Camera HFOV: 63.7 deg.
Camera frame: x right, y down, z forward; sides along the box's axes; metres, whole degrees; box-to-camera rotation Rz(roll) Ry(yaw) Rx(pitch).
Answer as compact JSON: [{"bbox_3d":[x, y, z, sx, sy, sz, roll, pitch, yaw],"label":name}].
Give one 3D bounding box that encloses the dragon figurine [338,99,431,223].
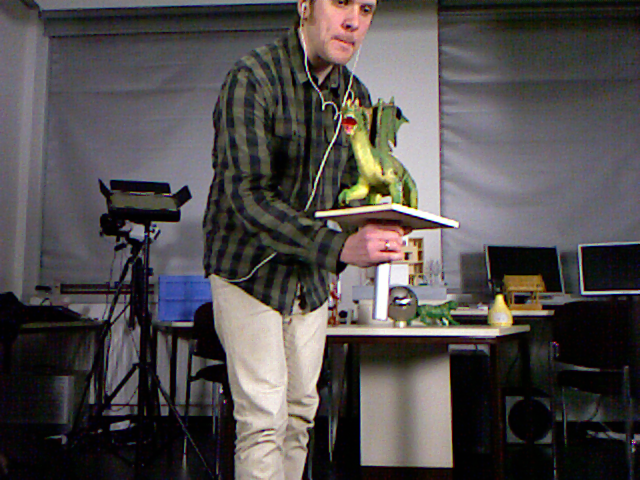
[{"bbox_3d":[0.150,-0.172,1.069,0.122,0.244,0.410,1,-5,34],"label":"dragon figurine"}]
